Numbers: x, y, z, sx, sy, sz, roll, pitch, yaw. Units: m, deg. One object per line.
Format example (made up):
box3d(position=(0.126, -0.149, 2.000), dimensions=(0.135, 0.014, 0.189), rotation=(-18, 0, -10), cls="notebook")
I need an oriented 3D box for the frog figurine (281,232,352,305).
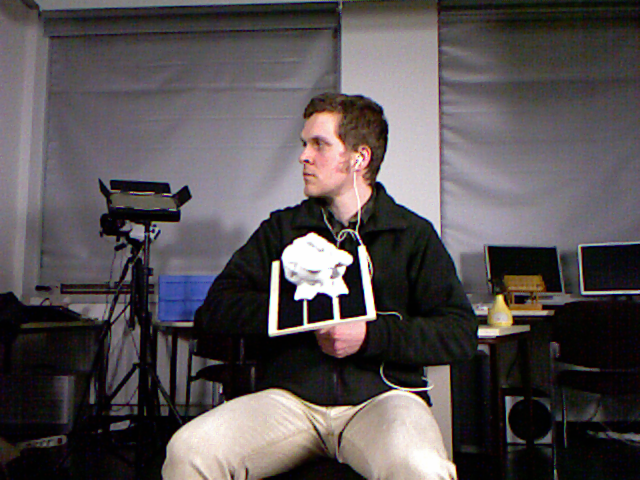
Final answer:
box3d(position=(-0.012, 0.034, 0.974), dimensions=(0.138, 0.156, 0.126), rotation=(5, 43, 22), cls="frog figurine")
